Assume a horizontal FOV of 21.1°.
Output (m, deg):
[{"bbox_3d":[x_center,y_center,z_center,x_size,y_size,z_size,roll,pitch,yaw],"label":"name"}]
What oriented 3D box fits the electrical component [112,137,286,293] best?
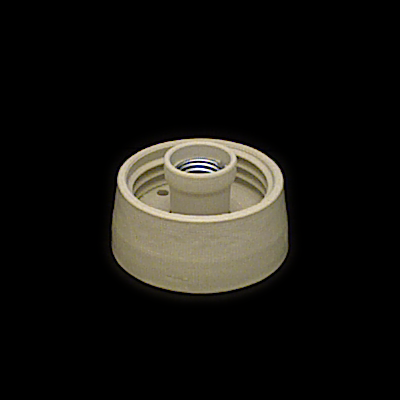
[{"bbox_3d":[0.000,0.000,0.643,0.108,0.061,0.106,1,32,0],"label":"electrical component"}]
